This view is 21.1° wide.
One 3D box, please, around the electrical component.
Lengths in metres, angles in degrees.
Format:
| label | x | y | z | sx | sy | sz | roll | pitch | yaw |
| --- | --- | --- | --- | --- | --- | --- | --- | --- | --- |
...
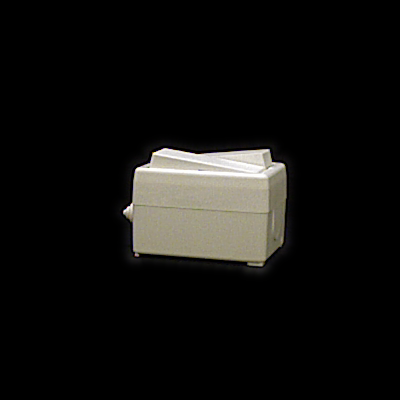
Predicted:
| label | x | y | z | sx | sy | sz | roll | pitch | yaw |
| --- | --- | --- | --- | --- | --- | --- | --- | --- | --- |
| electrical component | 0.000 | 0.000 | 0.645 | 0.096 | 0.061 | 0.061 | 4 | 11 | 15 |
